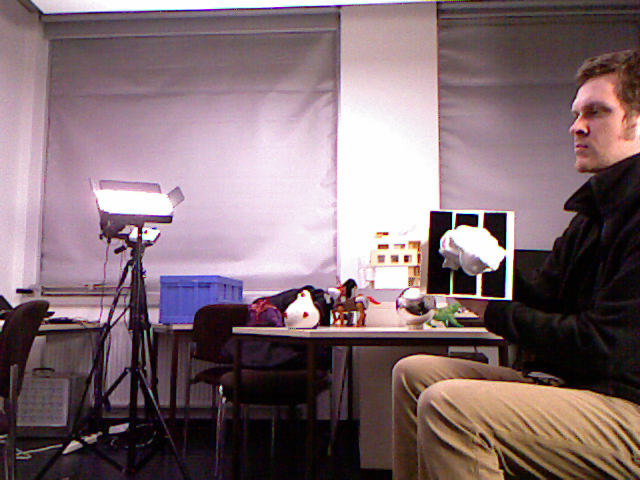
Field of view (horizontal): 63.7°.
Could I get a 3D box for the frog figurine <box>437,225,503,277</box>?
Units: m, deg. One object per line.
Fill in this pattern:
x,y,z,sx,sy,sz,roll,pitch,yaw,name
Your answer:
0.330,0.020,1.124,0.138,0.124,0.158,22,-7,8,frog figurine
